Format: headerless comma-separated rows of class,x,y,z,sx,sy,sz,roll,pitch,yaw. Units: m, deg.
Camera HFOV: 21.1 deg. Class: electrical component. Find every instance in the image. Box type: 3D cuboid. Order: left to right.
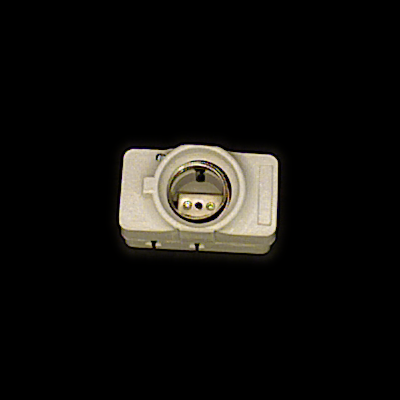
electrical component,0.000,0.000,0.636,0.089,0.050,0.055,2,-16,0
